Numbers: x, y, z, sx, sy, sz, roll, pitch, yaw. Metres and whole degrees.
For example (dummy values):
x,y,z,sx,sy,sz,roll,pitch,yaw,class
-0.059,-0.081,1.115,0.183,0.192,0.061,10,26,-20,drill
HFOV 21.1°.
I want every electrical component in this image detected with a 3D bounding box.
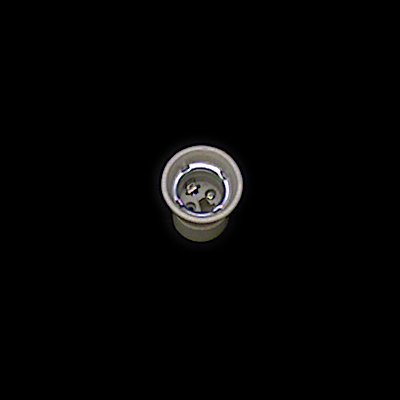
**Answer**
x,y,z,sx,sy,sz,roll,pitch,yaw,class
0.000,0.000,0.625,0.044,0.044,0.065,0,-18,0,electrical component
